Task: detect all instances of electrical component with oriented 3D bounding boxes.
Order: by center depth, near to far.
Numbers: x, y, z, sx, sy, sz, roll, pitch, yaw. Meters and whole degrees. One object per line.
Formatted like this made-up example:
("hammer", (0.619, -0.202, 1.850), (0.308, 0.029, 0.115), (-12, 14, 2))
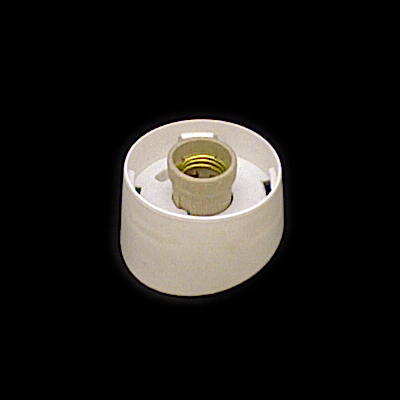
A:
("electrical component", (0.000, 0.000, 0.630), (0.099, 0.065, 0.098), (0, 42, 0))
